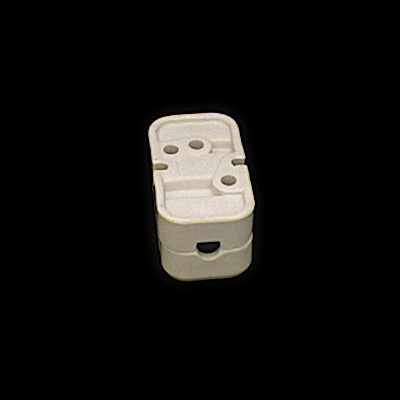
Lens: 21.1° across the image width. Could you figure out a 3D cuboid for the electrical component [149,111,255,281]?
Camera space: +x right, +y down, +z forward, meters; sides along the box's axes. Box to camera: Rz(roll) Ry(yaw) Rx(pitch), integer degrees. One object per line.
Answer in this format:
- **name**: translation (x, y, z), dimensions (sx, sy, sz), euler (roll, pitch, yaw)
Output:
- **electrical component**: translation (0.000, 0.000, 0.637), dimensions (0.054, 0.060, 0.094), euler (-4, 43, -5)
